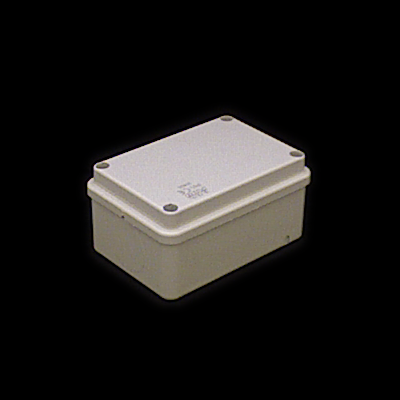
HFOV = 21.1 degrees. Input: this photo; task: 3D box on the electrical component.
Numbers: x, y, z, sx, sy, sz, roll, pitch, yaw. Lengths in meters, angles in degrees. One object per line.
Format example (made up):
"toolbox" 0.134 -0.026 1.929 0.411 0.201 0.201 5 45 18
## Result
"electrical component" 0.000 0.000 0.633 0.113 0.058 0.077 -24 39 -35
